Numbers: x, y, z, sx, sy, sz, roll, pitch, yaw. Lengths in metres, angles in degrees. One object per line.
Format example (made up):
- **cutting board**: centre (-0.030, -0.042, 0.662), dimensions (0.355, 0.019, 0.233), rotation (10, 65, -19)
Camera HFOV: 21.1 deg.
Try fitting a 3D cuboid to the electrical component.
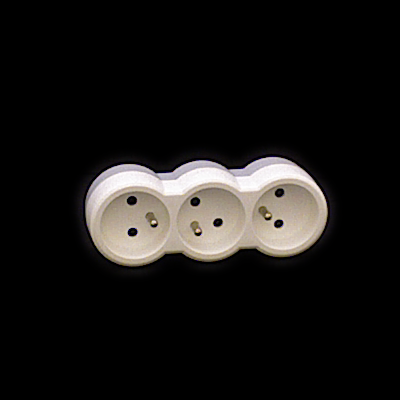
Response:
- **electrical component**: centre (0.000, 0.000, 0.639), dimensions (0.138, 0.053, 0.073), rotation (-4, 19, -10)
